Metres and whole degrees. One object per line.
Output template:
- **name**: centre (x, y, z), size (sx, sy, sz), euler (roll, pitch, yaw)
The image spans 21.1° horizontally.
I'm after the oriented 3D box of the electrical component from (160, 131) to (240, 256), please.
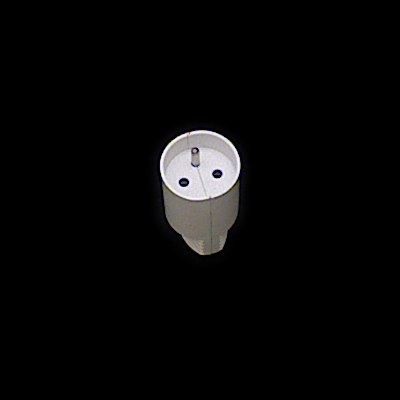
- **electrical component**: centre (0.000, 0.000, 0.616), size (0.043, 0.043, 0.081), euler (0, -28, 0)
